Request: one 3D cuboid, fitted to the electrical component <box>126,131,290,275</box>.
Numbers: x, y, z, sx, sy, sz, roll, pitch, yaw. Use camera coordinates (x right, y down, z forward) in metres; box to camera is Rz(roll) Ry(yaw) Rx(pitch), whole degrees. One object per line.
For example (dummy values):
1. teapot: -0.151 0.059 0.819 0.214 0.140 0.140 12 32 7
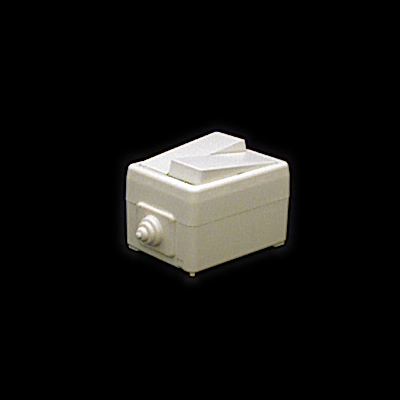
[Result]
1. electrical component: 0.000 0.000 0.637 0.096 0.061 0.061 -17 27 -40
